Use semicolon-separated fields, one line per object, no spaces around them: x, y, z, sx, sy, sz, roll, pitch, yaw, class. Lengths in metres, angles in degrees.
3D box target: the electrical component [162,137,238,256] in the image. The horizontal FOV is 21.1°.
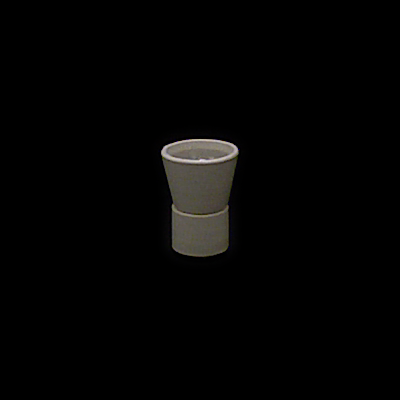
0.000;0.000;0.637;0.044;0.066;0.044;0;22;0;electrical component
